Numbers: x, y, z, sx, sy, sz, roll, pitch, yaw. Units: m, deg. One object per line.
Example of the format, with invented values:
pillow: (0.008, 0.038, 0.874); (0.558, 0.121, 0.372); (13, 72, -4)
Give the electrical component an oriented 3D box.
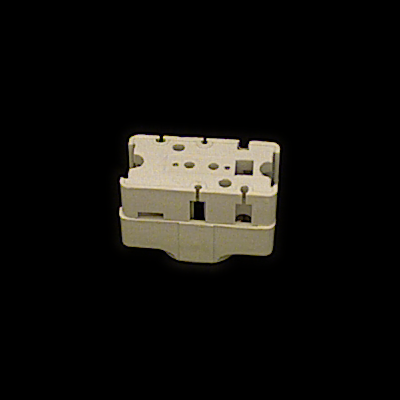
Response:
electrical component: (0.000, 0.000, 0.640); (0.089, 0.056, 0.050); (4, 42, 3)
